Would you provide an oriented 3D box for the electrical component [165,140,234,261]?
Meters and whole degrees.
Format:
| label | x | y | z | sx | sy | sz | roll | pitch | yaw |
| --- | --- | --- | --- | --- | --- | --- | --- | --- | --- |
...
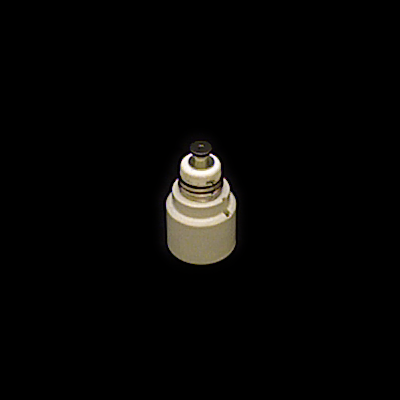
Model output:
| label | x | y | z | sx | sy | sz | roll | pitch | yaw |
| --- | --- | --- | --- | --- | --- | --- | --- | --- | --- |
| electrical component | 0.000 | 0.000 | 0.623 | 0.040 | 0.079 | 0.039 | 0 | 42 | 1 |
